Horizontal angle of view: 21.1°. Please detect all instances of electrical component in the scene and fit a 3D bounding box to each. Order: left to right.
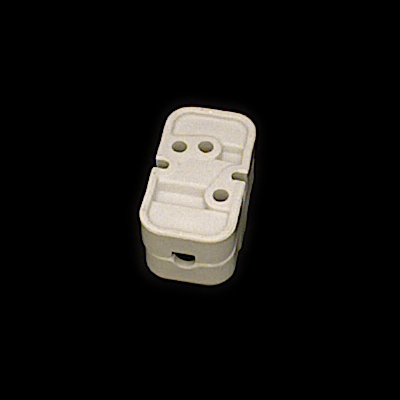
[{"bbox_3d":[0.000,0.000,0.635,0.053,0.095,0.059,9,-36,7],"label":"electrical component"}]
